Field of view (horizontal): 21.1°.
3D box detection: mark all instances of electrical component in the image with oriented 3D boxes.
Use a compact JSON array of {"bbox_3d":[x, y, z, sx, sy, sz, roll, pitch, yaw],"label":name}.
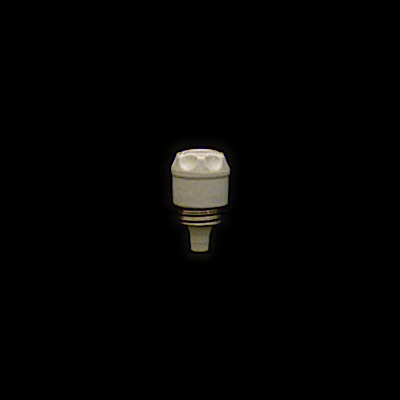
[{"bbox_3d":[0.000,0.000,0.651,0.035,0.062,0.035,1,12,0],"label":"electrical component"}]
